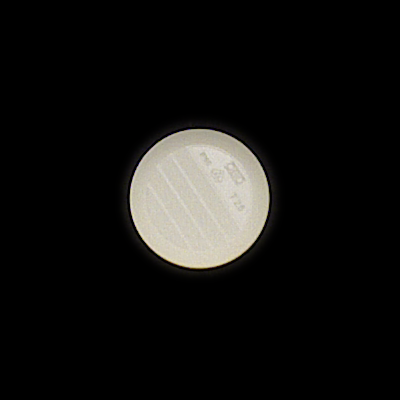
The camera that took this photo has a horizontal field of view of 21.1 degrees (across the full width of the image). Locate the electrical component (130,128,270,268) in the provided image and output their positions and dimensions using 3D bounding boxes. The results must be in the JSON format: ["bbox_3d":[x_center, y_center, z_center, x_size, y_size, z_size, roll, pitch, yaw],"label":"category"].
[{"bbox_3d":[0.000,0.000,0.631,0.080,0.080,0.050,0,-7,0],"label":"electrical component"}]
